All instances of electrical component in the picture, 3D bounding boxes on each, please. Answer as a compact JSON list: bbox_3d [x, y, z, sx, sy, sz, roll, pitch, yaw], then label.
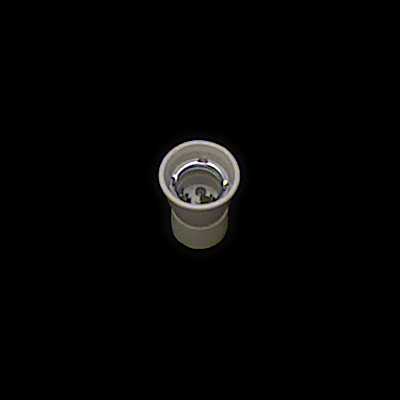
[{"bbox_3d":[0.000,0.000,0.626,0.044,0.044,0.065,0,-28,0],"label":"electrical component"}]
